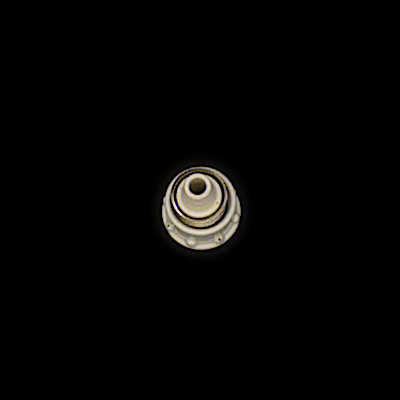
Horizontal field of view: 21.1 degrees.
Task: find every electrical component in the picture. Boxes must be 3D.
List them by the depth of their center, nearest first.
[{"bbox_3d":[0.000,0.000,0.633,0.048,0.048,0.061,0,-16,2],"label":"electrical component"}]
